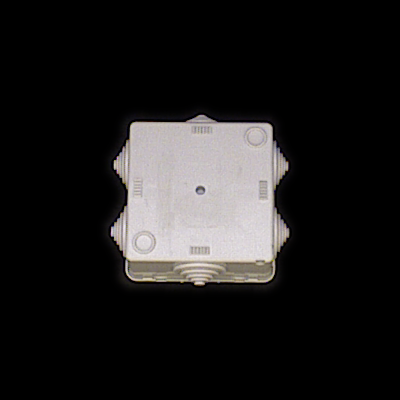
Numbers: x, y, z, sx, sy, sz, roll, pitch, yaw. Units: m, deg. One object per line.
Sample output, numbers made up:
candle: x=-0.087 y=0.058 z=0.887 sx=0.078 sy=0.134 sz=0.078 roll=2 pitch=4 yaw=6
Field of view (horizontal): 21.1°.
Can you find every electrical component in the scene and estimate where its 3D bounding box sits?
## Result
electrical component: x=0.000 y=0.000 z=0.631 sx=0.100 sy=0.100 sz=0.048 roll=1 pitch=-17 yaw=0
